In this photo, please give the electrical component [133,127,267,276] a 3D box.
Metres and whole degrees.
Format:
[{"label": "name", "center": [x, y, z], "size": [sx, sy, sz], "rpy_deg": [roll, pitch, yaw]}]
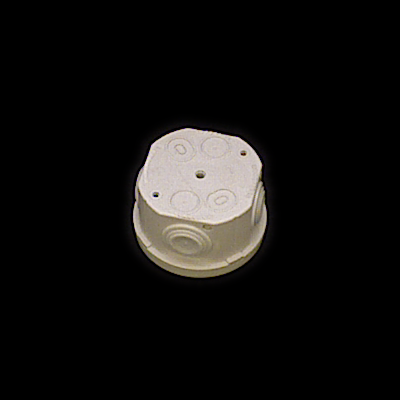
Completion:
[{"label": "electrical component", "center": [0.000, 0.000, 0.633], "size": [0.080, 0.080, 0.051], "rpy_deg": [0, -38, -1]}]
